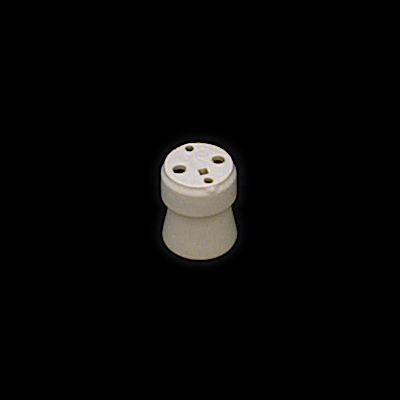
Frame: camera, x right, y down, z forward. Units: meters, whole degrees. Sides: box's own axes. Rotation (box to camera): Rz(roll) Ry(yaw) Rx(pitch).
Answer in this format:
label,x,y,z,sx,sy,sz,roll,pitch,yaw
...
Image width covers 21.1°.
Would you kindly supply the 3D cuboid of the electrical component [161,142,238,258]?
label,x,y,z,sx,sy,sz,roll,pitch,yaw
electrical component,0.000,0.000,0.632,0.045,0.055,0.044,0,42,0
